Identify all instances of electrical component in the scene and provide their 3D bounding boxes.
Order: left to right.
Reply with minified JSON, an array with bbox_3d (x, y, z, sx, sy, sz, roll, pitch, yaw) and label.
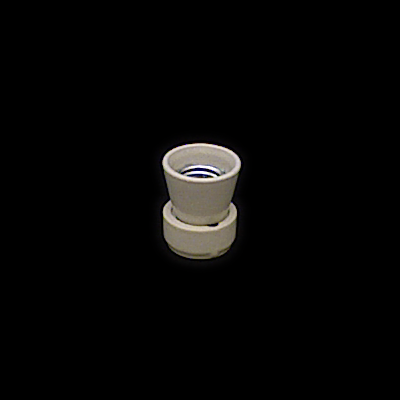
[{"bbox_3d":[0.000,0.000,0.637,0.045,0.056,0.044,1,31,-1],"label":"electrical component"}]
